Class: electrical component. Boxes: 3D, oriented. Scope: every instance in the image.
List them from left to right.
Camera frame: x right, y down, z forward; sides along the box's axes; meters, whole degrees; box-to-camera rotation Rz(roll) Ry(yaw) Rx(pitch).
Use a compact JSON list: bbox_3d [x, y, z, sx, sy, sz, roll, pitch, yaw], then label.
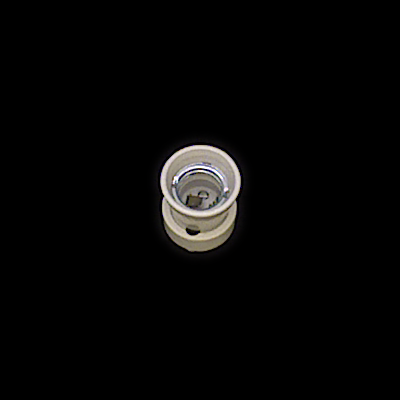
[{"bbox_3d":[0.000,0.000,0.629,0.045,0.045,0.055,0,-27,-1],"label":"electrical component"}]
